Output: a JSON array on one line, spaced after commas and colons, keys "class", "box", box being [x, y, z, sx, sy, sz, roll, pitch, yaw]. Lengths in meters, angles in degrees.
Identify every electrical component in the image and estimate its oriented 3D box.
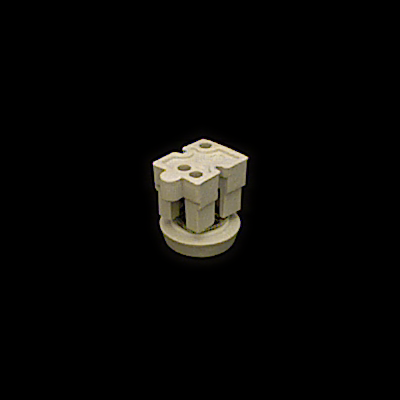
[{"class": "electrical component", "box": [0.000, 0.000, 0.642, 0.048, 0.056, 0.067, 25, 39, 35]}]
